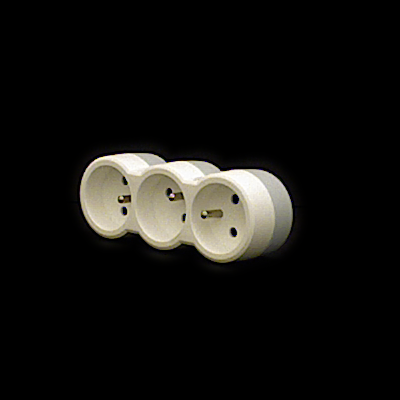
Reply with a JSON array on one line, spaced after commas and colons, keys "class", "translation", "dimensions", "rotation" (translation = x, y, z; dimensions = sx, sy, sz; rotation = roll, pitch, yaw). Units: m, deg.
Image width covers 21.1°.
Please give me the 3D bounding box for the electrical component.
[{"class": "electrical component", "translation": [0.000, 0.000, 0.653], "dimensions": [0.136, 0.052, 0.074], "rotation": [10, 13, 38]}]
